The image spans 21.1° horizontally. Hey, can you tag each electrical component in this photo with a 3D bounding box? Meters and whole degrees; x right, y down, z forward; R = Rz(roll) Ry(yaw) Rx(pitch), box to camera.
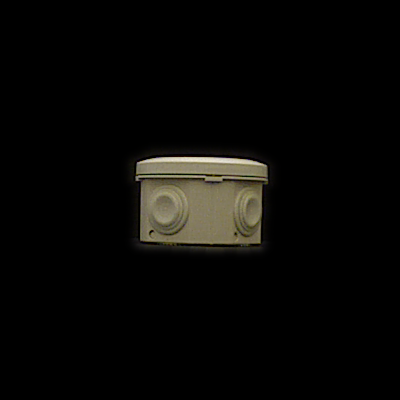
[{"bbox_3d":[0.000,0.000,0.653,0.080,0.051,0.080,2,0,0],"label":"electrical component"}]
